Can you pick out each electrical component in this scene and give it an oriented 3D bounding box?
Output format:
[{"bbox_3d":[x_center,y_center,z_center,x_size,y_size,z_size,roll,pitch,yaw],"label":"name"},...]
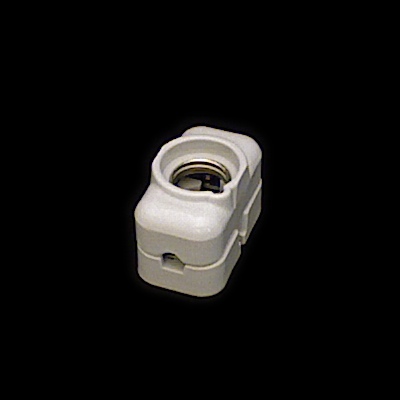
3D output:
[{"bbox_3d":[0.000,0.000,0.637,0.053,0.060,0.094,14,44,15],"label":"electrical component"}]
